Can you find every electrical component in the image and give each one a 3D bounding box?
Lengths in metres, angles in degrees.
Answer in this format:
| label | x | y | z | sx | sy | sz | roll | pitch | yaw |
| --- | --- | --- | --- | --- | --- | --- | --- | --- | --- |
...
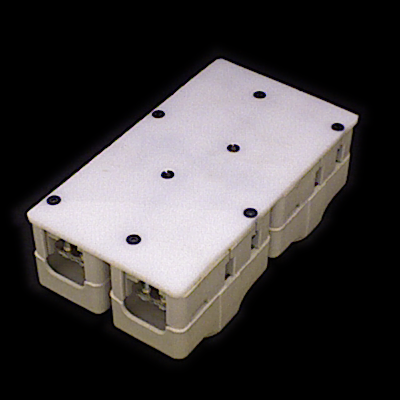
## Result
| label | x | y | z | sx | sy | sz | roll | pitch | yaw |
| --- | --- | --- | --- | --- | --- | --- | --- | --- | --- |
| electrical component | 0.000 | 0.000 | 0.630 | 0.105 | 0.061 | 0.185 | 26 | 48 | 25 |
